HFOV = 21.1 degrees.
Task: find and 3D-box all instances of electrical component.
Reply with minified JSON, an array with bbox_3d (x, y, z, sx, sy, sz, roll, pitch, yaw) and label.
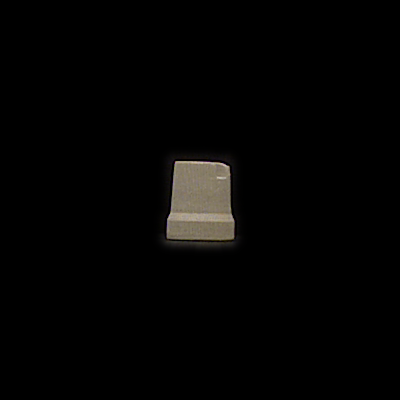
[{"bbox_3d":[0.000,0.000,0.649,0.040,0.046,0.040,1,2,0],"label":"electrical component"}]
